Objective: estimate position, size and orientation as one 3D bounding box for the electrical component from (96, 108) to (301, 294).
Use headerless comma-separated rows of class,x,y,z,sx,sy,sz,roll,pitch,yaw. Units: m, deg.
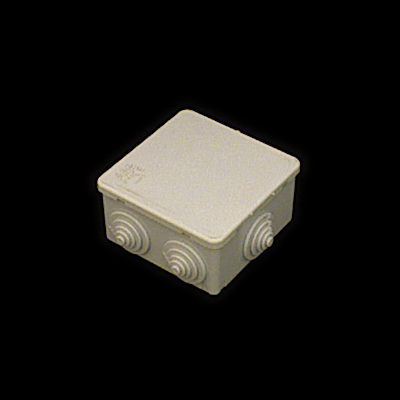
electrical component,0.000,0.000,0.641,0.098,0.049,0.100,27,49,25
